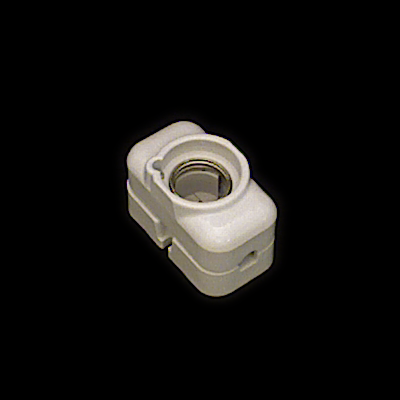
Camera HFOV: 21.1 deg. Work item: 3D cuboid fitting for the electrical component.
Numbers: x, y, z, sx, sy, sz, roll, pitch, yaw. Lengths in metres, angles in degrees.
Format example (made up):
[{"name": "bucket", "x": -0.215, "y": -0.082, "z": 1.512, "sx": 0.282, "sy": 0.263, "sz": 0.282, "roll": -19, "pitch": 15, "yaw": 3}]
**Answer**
[{"name": "electrical component", "x": 0.000, "y": 0.000, "z": 0.635, "sx": 0.054, "sy": 0.094, "sz": 0.059, "roll": -32, "pitch": -31, "yaw": -22}]
